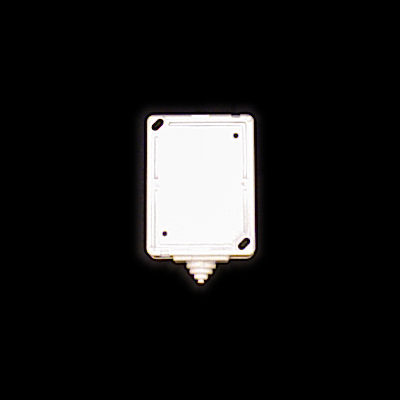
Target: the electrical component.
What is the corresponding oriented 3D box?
[{"bbox_3d":[0.000,0.000,0.629,0.062,0.096,0.061,0,-6,1],"label":"electrical component"}]
